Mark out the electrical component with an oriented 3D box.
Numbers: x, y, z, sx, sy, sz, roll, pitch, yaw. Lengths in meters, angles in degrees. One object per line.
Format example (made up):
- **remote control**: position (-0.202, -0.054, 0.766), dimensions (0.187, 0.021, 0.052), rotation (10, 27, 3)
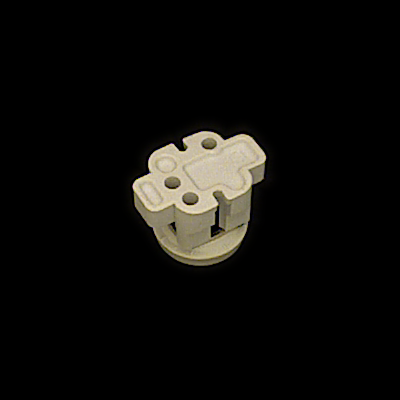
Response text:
- **electrical component**: position (0.000, 0.000, 0.638), dimensions (0.079, 0.057, 0.057), rotation (-25, -34, -20)
